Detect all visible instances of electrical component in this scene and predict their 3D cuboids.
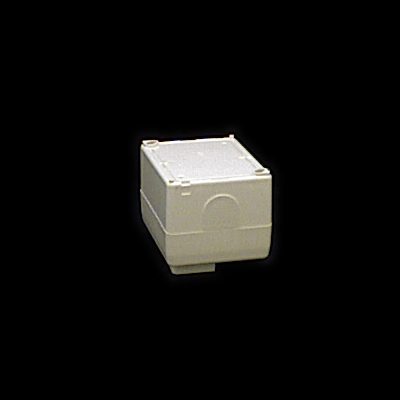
[{"bbox_3d":[0.000,0.000,0.645,0.062,0.062,0.095,-5,22,-14],"label":"electrical component"}]
